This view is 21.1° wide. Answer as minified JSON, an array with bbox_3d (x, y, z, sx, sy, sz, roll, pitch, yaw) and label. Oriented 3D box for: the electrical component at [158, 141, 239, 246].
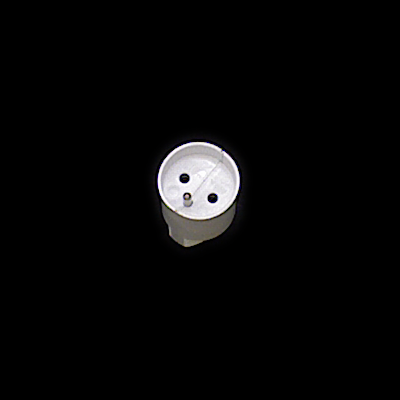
[{"bbox_3d":[0.000,0.000,0.614,0.043,0.043,0.080,0,-16,1],"label":"electrical component"}]
